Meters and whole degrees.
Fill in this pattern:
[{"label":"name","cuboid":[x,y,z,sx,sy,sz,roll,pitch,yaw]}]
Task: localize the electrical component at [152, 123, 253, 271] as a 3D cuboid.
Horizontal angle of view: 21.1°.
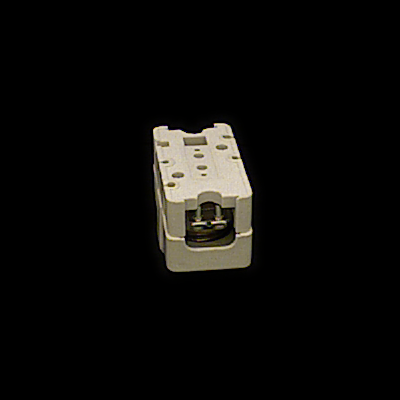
[{"label":"electrical component","cuboid":[0.000,0.000,0.642,0.050,0.056,0.088,-4,32,-7]}]
